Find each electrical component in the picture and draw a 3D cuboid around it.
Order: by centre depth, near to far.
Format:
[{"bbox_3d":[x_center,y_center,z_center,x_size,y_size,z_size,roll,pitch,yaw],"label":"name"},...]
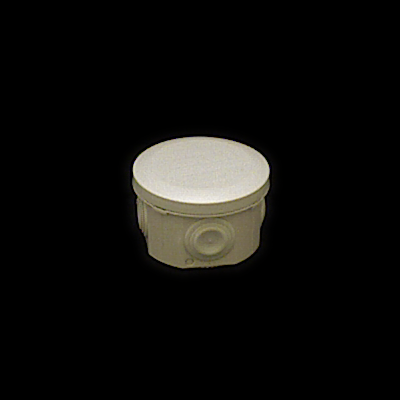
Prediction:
[{"bbox_3d":[0.000,0.000,0.635,0.080,0.051,0.079,1,31,0],"label":"electrical component"}]
